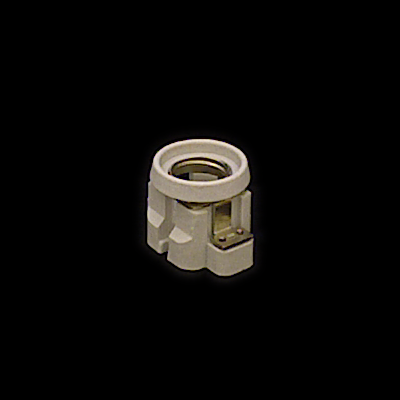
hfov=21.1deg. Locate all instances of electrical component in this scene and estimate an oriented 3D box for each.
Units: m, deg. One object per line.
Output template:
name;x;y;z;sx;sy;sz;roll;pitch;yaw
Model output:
electrical component;0.000;0.000;0.634;0.057;0.057;0.077;-21;38;-32
